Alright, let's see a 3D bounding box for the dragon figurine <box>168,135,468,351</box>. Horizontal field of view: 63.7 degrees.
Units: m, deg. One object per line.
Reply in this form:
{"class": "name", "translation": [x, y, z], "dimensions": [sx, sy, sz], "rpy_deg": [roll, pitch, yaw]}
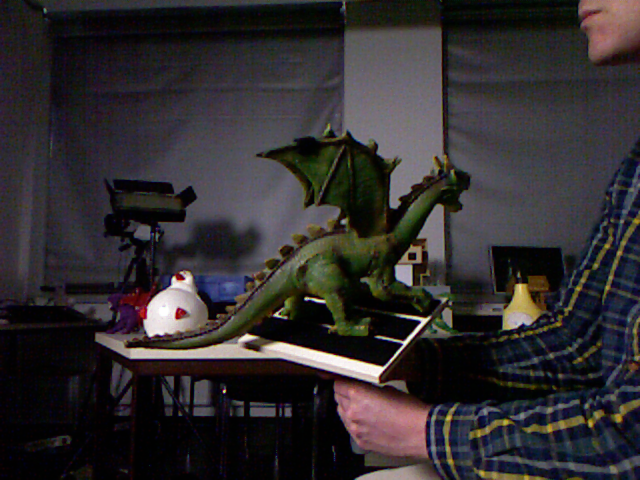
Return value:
{"class": "dragon figurine", "translation": [0.008, -0.009, 0.623], "dimensions": [0.412, 0.239, 0.124], "rpy_deg": [-12, 21, -17]}
